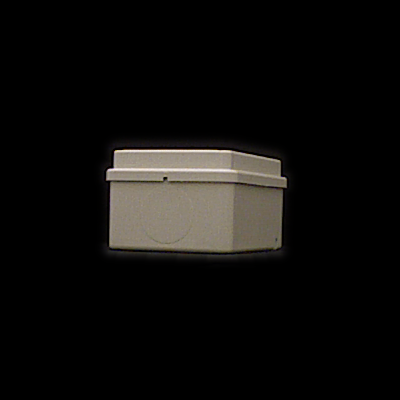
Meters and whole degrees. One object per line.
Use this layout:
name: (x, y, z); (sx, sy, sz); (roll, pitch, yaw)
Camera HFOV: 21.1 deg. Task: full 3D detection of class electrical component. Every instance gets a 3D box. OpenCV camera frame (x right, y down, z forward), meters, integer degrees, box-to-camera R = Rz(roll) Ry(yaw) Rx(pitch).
electrical component: (0.000, 0.000, 0.649); (0.078, 0.057, 0.113); (1, 0, 20)
